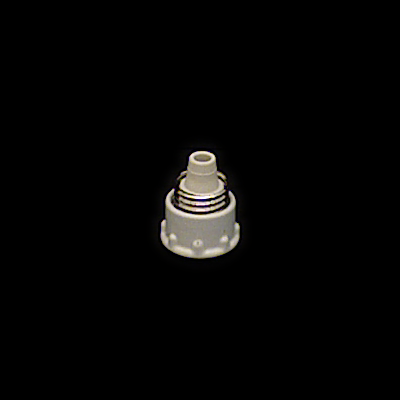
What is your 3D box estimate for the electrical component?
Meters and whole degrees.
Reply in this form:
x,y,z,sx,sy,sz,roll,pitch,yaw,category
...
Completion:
x,y,z,sx,sy,sz,roll,pitch,yaw,category
0.000,0.000,0.641,0.048,0.063,0.047,1,33,0,electrical component
